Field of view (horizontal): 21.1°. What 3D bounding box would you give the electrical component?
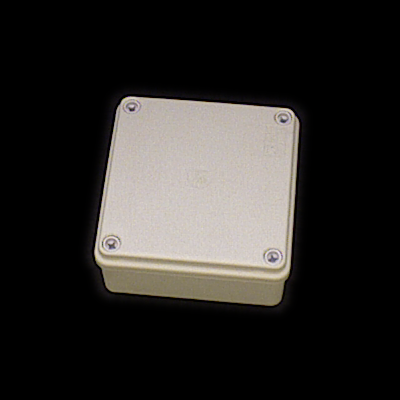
[{"bbox_3d":[0.000,0.000,0.629,0.109,0.109,0.056,5,-27,3],"label":"electrical component"}]
